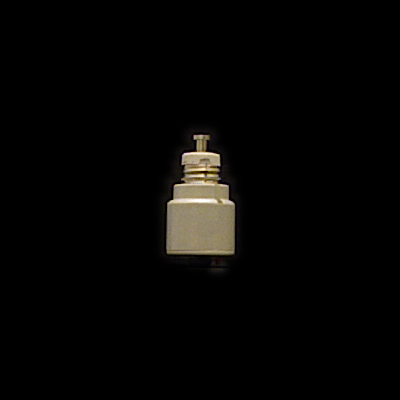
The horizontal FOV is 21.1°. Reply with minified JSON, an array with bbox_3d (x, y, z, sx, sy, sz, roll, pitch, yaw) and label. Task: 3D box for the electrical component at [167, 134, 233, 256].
[{"bbox_3d":[0.000,0.000,0.648,0.040,0.078,0.040,0,1,0],"label":"electrical component"}]
